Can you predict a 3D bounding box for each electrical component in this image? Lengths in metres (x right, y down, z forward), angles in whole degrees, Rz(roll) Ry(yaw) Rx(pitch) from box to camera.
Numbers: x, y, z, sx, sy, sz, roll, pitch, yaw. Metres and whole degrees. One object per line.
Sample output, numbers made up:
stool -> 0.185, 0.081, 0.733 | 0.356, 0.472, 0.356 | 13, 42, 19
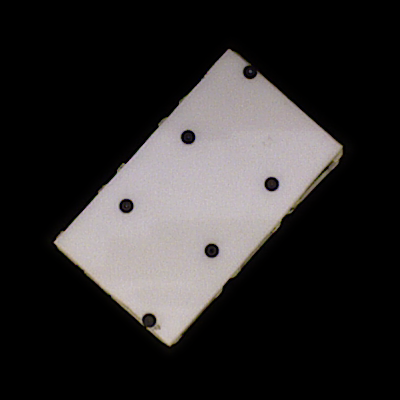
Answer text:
electrical component -> 0.000, 0.000, 0.631 | 0.089, 0.150, 0.061 | 42, -5, 4
